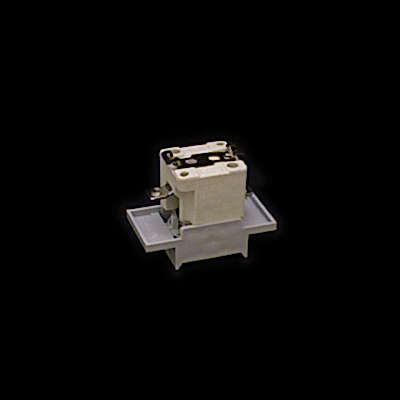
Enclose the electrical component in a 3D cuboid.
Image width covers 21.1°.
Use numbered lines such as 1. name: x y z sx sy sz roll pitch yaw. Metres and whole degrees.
1. electrical component: 0.000 0.000 0.634 0.081 0.064 0.041 -10 33 -17
